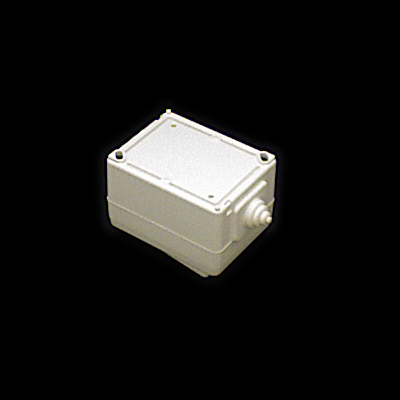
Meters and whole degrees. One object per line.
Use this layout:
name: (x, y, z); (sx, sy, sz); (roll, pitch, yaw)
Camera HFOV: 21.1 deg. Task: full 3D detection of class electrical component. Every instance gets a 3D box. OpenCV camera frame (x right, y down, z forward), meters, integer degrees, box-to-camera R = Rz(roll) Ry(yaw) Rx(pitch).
electrical component: (0.000, 0.000, 0.629); (0.096, 0.061, 0.061); (25, 47, 26)
